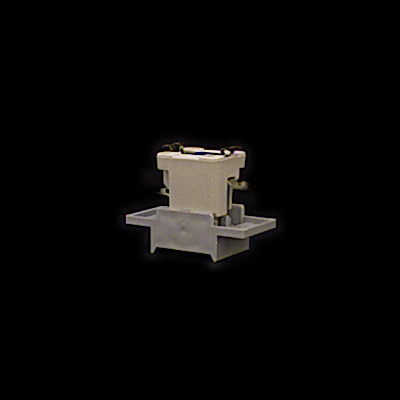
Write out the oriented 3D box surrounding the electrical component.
[{"bbox_3d":[0.000,0.000,0.644,0.080,0.064,0.042,7,13,28],"label":"electrical component"}]
